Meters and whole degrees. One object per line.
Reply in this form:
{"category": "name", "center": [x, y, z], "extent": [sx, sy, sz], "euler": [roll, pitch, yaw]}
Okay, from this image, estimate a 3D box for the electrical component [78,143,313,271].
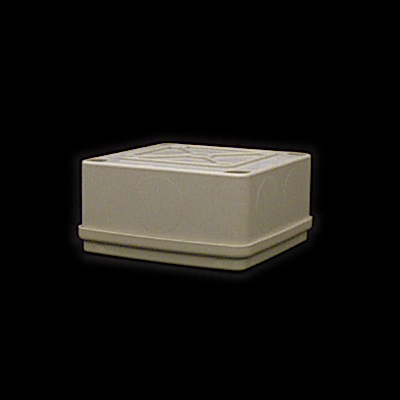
{"category": "electrical component", "center": [0.000, 0.000, 0.642], "extent": [0.108, 0.056, 0.108], "euler": [6, 11, 25]}
